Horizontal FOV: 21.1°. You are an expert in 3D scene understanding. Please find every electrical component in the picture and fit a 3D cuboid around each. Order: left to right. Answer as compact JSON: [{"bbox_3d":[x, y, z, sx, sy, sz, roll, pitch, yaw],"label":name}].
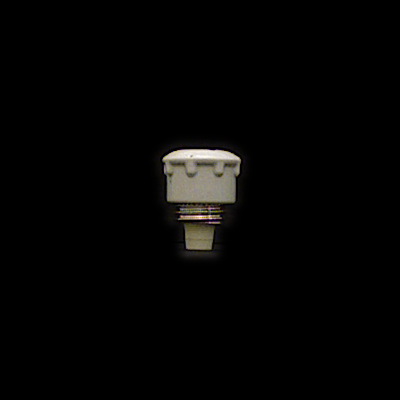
[{"bbox_3d":[0.000,0.000,0.658,0.048,0.062,0.048,1,2,0],"label":"electrical component"}]
